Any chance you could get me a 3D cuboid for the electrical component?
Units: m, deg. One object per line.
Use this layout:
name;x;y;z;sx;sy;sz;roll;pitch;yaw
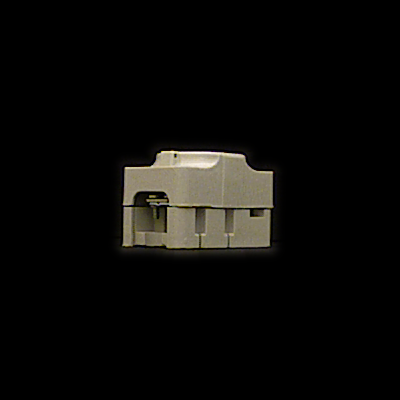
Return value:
electrical component;0.000;0.000;0.657;0.049;0.056;0.090;2;1;39
